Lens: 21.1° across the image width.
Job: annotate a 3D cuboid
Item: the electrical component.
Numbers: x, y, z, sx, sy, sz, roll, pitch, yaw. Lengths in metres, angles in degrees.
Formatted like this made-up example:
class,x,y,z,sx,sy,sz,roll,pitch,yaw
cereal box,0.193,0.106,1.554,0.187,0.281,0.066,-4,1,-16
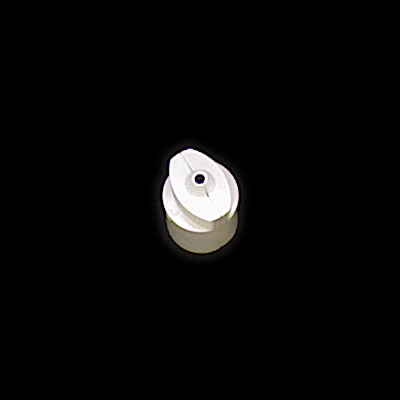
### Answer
class,x,y,z,sx,sy,sz,roll,pitch,yaw
electrical component,0.000,0.000,0.616,0.043,0.043,0.080,0,-17,1
